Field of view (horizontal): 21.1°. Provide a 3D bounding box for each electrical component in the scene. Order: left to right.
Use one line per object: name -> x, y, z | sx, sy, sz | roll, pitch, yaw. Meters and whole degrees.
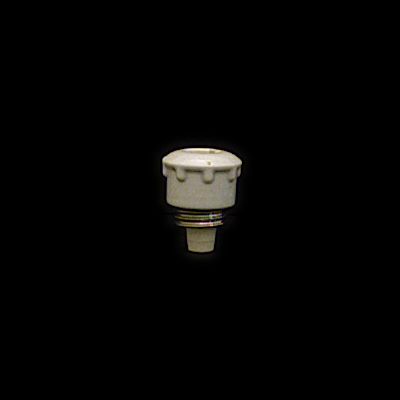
electrical component -> 0.000, 0.000, 0.652 | 0.048, 0.062, 0.048 | 1, 11, 0
